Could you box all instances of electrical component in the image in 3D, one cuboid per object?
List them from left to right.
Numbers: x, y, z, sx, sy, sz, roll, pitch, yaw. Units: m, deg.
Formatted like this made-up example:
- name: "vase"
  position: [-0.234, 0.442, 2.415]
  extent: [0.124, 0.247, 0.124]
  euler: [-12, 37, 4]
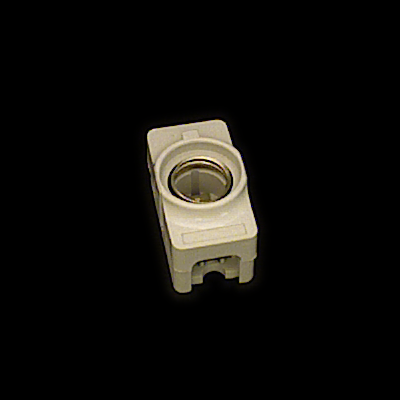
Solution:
- name: "electrical component"
  position: [0.000, 0.000, 0.637]
  extent: [0.050, 0.089, 0.056]
  euler: [-10, -36, -8]
